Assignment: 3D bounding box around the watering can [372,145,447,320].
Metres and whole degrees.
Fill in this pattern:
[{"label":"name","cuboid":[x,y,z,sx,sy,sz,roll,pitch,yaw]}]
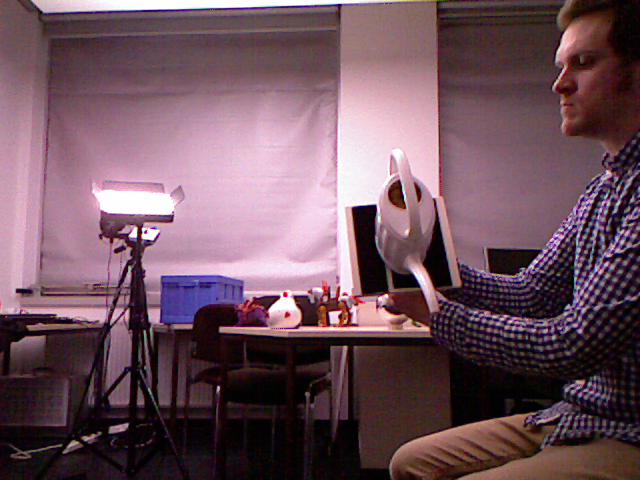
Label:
[{"label":"watering can","cuboid":[0.157,-0.001,0.929,0.104,0.356,0.220,-7,-27,-1]}]
